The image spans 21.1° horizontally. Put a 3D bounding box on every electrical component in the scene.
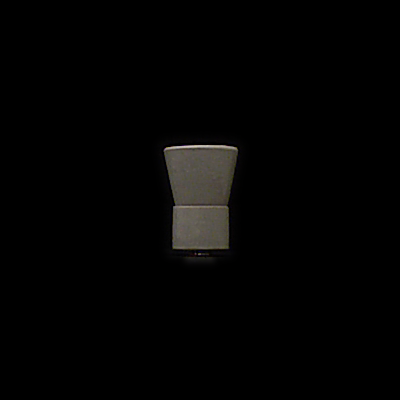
[{"bbox_3d":[0.000,0.000,0.650,0.044,0.065,0.044,0,1,0],"label":"electrical component"}]
